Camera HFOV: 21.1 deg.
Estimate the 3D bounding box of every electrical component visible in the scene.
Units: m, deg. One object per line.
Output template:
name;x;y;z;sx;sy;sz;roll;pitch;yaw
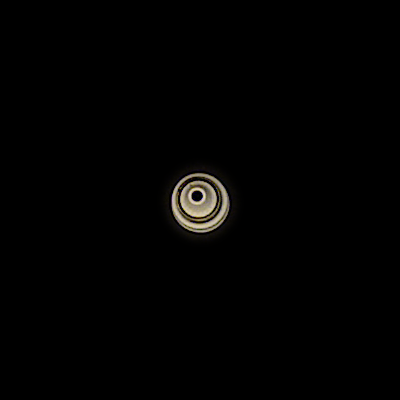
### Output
electrical component;0.000;0.000;0.637;0.035;0.035;0.061;0;-6;2
